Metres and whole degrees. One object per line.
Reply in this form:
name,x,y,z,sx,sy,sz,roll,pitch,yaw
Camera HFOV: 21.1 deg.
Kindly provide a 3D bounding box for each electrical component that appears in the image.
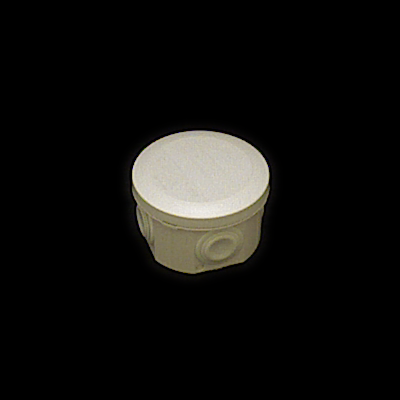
electrical component,0.000,0.000,0.635,0.080,0.051,0.079,1,41,0
